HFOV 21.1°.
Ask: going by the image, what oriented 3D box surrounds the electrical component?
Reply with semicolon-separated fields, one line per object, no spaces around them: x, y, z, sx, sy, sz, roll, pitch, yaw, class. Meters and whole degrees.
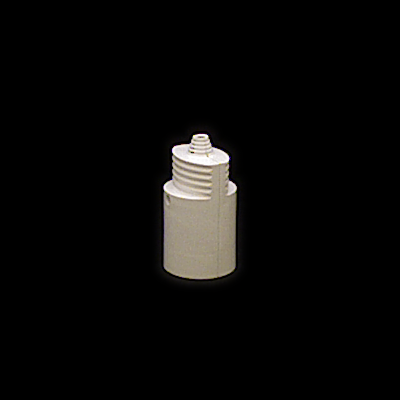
0.000;0.000;0.636;0.043;0.082;0.042;1;21;0;electrical component
